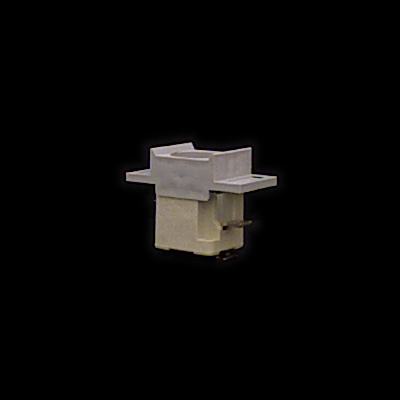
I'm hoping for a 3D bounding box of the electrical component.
[{"bbox_3d":[0.000,0.000,0.642,0.080,0.064,0.042,8,12,33],"label":"electrical component"}]
